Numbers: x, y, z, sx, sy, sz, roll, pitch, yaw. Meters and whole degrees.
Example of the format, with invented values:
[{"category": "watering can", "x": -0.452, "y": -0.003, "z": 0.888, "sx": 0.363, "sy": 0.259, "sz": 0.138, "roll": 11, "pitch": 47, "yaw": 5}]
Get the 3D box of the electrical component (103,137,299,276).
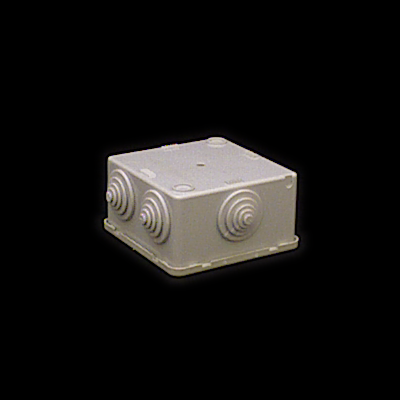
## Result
[{"category": "electrical component", "x": 0.000, "y": 0.000, "z": 0.640, "sx": 0.100, "sy": 0.049, "sz": 0.098, "roll": -12, "pitch": 24, "yaw": -30}]
